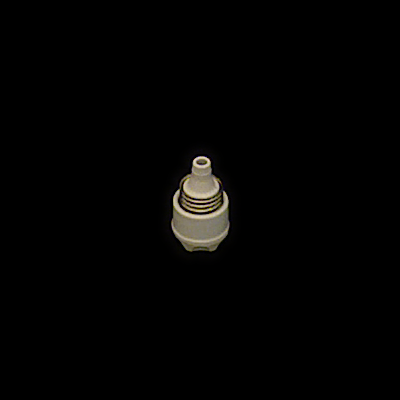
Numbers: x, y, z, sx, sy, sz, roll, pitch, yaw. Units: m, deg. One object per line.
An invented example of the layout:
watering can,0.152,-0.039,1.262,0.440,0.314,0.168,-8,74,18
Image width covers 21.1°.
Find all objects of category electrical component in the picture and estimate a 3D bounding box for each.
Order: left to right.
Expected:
electrical component,0.000,0.000,0.642,0.035,0.062,0.035,1,42,-1
